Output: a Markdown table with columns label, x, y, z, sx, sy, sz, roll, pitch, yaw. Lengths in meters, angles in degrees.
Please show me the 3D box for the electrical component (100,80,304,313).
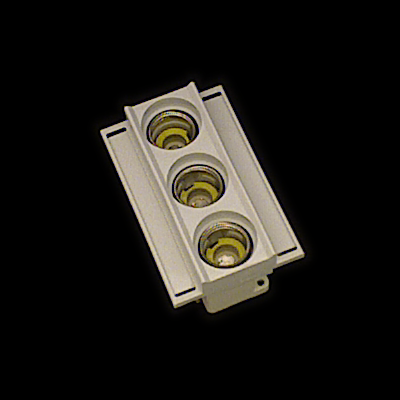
| label | x | y | z | sx | sy | sz | roll | pitch | yaw |
| --- | --- | --- | --- | --- | --- | --- | --- | --- | --- |
| electrical component | 0.000 | 0.000 | 0.637 | 0.079 | 0.121 | 0.063 | -21 | -25 | -8 |
